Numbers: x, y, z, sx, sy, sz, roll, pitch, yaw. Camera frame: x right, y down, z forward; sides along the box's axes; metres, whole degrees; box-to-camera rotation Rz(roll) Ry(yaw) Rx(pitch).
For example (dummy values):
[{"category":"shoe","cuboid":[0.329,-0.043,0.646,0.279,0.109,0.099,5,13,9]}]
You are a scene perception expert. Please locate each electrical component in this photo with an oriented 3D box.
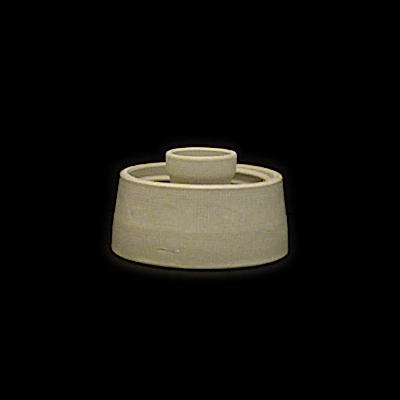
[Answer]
[{"category":"electrical component","cuboid":[0.000,0.000,0.652,0.108,0.061,0.107,1,11,0]}]
